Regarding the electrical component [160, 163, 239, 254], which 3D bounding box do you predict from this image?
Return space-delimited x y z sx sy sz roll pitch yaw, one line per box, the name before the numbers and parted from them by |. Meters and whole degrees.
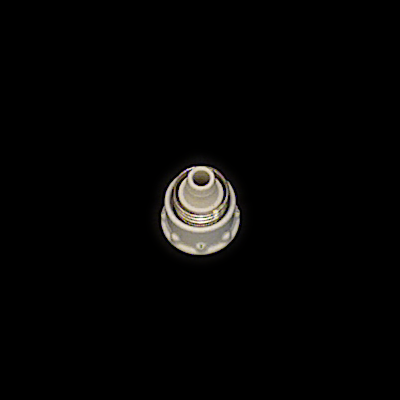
electrical component | 0.000 0.000 0.634 0.048 0.048 0.062 0 -26 -1
